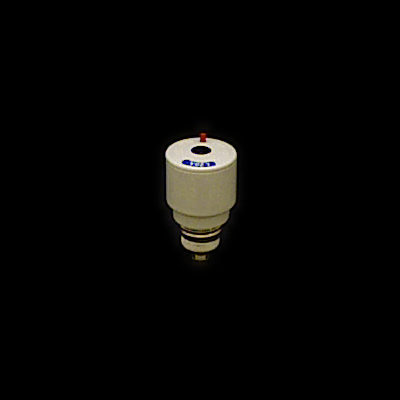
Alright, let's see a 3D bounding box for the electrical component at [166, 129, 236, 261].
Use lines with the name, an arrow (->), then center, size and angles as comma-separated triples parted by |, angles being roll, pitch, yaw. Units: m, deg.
electrical component -> 0.000, 0.000, 0.631 | 0.040, 0.079, 0.039 | 1, 31, 0
